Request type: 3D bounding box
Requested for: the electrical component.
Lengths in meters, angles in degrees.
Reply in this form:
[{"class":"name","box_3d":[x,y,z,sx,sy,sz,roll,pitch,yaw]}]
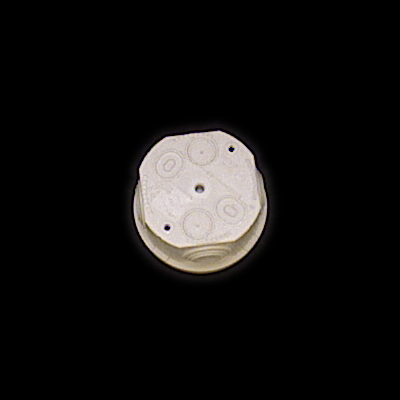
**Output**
[{"class":"electrical component","box_3d":[0.000,0.000,0.631,0.080,0.080,0.050,0,-16,0]}]
